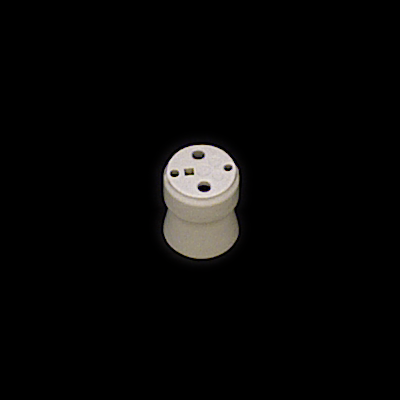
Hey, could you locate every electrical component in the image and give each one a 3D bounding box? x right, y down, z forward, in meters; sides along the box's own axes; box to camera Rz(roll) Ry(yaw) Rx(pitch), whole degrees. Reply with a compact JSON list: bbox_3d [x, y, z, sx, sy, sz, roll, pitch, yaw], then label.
[{"bbox_3d":[0.000,0.000,0.631,0.045,0.044,0.055,0,-38,-1],"label":"electrical component"}]
